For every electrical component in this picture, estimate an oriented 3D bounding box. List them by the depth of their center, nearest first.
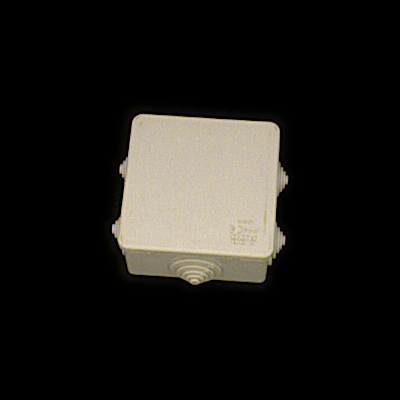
[{"bbox_3d":[0.000,0.000,0.640,0.100,0.100,0.048,4,-26,2],"label":"electrical component"}]
